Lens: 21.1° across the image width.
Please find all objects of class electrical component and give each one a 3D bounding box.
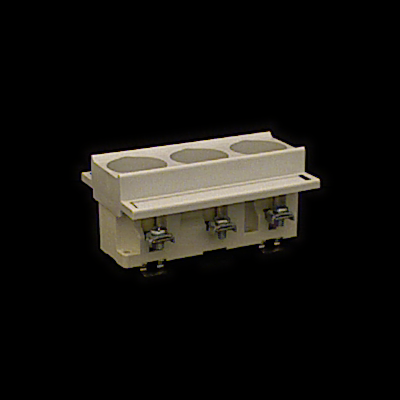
[{"bbox_3d":[0.000,0.000,0.652,0.122,0.064,0.077,-10,22,-25],"label":"electrical component"}]
